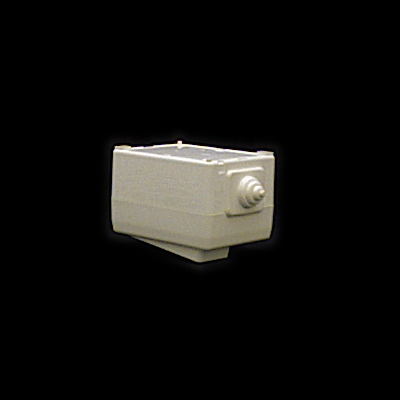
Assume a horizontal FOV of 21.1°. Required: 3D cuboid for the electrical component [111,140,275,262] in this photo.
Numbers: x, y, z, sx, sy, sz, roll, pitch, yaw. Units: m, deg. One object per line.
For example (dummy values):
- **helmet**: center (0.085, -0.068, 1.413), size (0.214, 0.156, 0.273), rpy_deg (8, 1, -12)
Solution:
- **electrical component**: center (0.000, 0.000, 0.641), size (0.096, 0.061, 0.061), rpy_deg (10, 13, 41)
